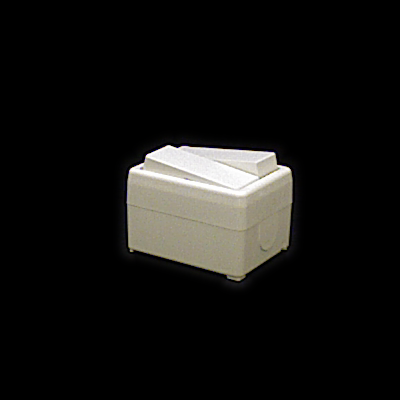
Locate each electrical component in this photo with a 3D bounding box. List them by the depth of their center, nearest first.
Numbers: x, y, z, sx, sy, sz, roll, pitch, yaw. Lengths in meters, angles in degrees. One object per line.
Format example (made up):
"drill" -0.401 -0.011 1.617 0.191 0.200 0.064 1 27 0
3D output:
"electrical component" 0.000 0.000 0.640 0.095 0.061 0.061 14 24 30
